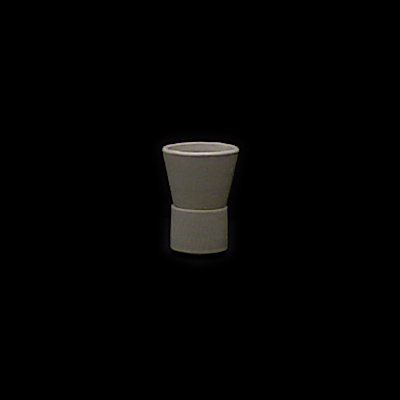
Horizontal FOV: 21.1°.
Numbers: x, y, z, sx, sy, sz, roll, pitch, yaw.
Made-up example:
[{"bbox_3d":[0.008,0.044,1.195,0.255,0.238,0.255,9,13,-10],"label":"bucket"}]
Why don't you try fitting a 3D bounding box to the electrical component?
[{"bbox_3d":[0.000,0.000,0.641,0.044,0.066,0.044,1,12,0],"label":"electrical component"}]
